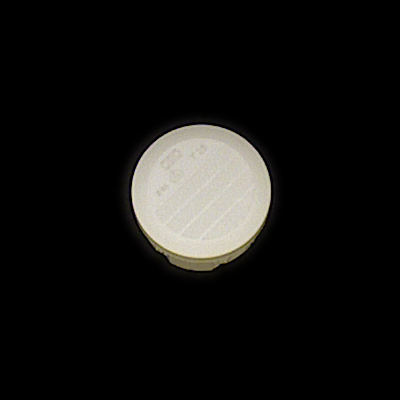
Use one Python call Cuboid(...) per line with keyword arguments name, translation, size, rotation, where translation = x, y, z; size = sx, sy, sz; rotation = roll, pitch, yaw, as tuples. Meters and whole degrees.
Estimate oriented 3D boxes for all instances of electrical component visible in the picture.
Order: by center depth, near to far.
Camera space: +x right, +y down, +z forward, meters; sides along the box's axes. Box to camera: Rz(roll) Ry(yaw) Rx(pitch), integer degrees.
Cuboid(name="electrical component", translation=(0.000, 0.000, 0.630), size=(0.080, 0.080, 0.050), rotation=(0, -17, 0))
